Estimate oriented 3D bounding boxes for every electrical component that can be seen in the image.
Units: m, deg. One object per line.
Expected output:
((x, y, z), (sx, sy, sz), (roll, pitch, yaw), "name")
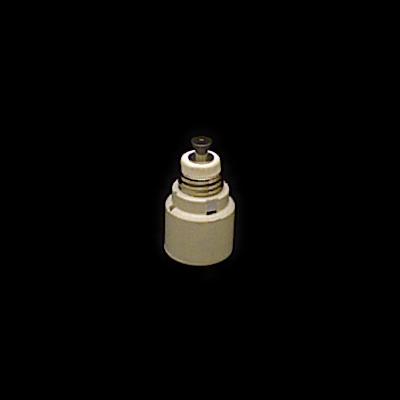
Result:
((0.000, 0.000, 0.629), (0.040, 0.079, 0.039), (1, 30, -1), "electrical component")
